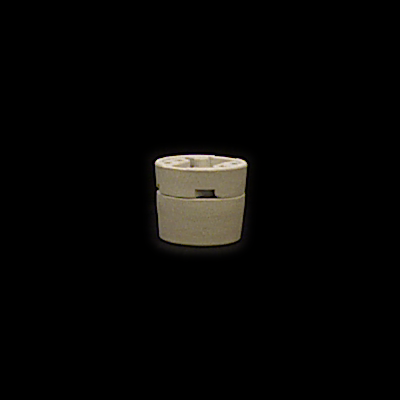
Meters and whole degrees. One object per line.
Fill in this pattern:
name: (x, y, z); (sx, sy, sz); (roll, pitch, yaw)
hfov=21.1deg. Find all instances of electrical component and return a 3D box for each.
electrical component: (0.000, 0.000, 0.644); (0.055, 0.047, 0.055); (1, 10, 0)
